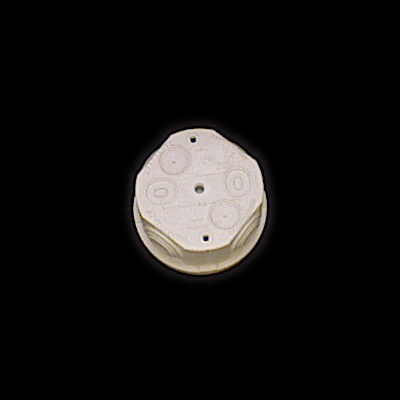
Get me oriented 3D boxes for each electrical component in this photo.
[{"bbox_3d":[0.000,0.000,0.632,0.080,0.080,0.050,0,-18,0],"label":"electrical component"}]
